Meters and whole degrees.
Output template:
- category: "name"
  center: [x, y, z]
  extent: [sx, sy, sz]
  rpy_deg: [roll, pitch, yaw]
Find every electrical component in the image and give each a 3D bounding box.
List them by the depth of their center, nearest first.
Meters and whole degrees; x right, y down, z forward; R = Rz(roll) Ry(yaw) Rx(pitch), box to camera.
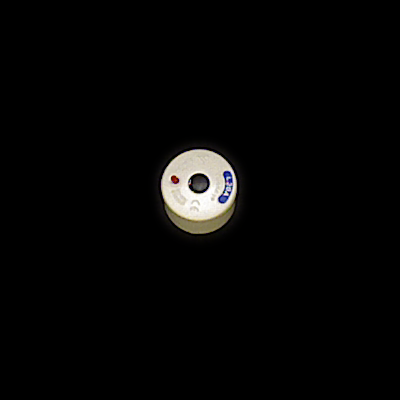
- category: "electrical component"
  center: [0.000, 0.000, 0.617]
  extent: [0.040, 0.040, 0.078]
  rpy_deg: [0, -17, 1]
